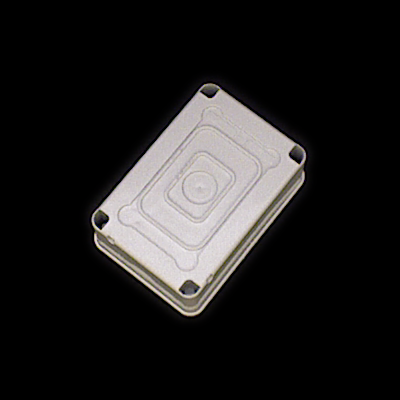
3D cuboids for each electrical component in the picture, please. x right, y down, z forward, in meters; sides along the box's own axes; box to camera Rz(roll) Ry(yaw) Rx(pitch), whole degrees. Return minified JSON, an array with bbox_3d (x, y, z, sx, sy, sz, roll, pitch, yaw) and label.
[{"bbox_3d":[0.000,0.000,0.627,0.078,0.113,0.057,37,-14,10],"label":"electrical component"}]
